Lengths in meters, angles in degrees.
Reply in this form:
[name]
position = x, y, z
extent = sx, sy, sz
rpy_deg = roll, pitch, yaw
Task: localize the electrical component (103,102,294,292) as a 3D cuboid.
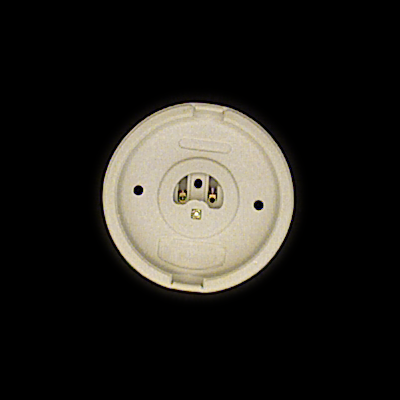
[electrical component]
position = 0.000, 0.000, 0.634
extent = 0.108, 0.108, 0.060
rpy_deg = 0, -6, 0
